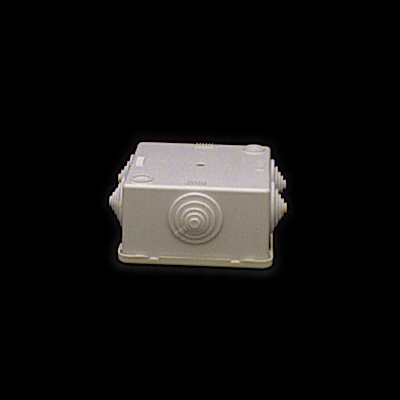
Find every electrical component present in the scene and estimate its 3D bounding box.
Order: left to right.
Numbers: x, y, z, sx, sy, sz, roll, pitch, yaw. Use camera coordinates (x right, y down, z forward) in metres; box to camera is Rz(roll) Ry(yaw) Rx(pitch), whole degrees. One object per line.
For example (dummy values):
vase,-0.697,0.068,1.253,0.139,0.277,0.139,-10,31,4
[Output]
electrical component,0.000,0.000,0.642,0.100,0.049,0.098,2,21,2
